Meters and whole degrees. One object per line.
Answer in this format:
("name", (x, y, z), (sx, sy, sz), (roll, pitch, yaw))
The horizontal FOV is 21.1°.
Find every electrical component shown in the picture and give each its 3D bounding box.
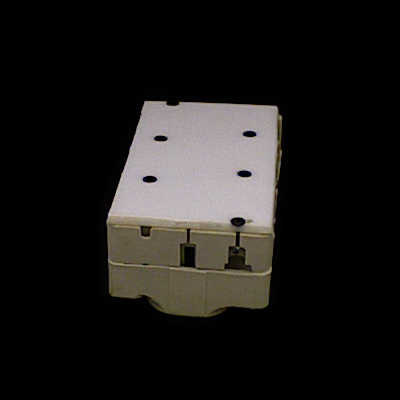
("electrical component", (0.000, 0.000, 0.643), (0.089, 0.063, 0.146), (4, 31, 4))
